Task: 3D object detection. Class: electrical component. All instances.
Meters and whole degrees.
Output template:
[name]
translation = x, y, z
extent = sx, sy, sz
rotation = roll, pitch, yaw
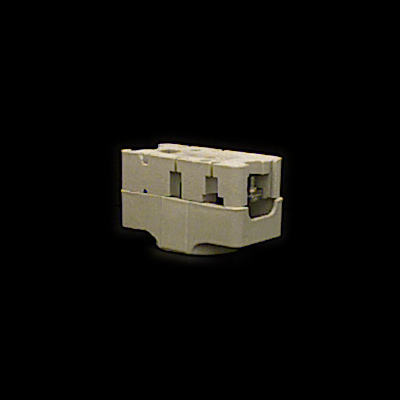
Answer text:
[electrical component]
translation = 0.000, 0.000, 0.650
extent = 0.088, 0.056, 0.050
rotation = 9, 15, 36
